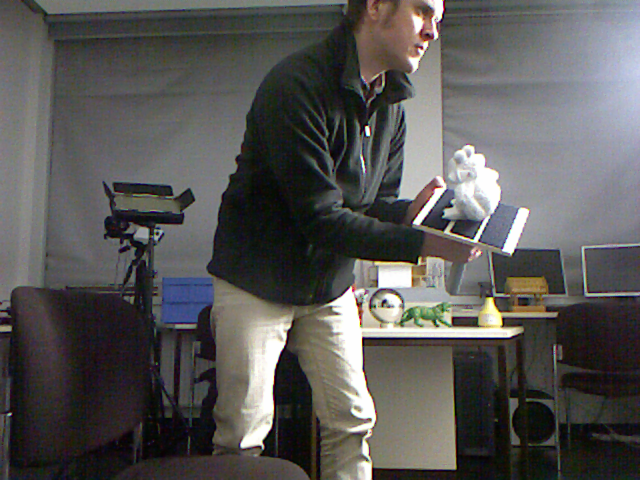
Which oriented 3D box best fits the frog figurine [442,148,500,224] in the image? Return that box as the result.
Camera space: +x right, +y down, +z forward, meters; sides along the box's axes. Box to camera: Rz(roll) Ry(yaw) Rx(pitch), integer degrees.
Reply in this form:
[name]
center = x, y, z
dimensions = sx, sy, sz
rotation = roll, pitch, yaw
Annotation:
[frog figurine]
center = 0.325, -0.119, 1.088
dimensions = 0.139, 0.156, 0.124
rotation = -26, 48, -33
